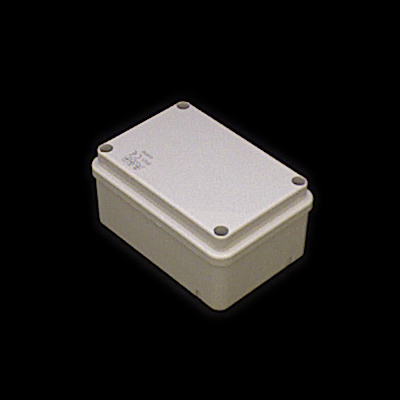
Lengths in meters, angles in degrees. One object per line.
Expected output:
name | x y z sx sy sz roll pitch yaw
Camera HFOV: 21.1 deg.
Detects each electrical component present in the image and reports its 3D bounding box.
electrical component | 0.000 0.000 0.630 0.078 0.057 0.112 -32 52 -31
